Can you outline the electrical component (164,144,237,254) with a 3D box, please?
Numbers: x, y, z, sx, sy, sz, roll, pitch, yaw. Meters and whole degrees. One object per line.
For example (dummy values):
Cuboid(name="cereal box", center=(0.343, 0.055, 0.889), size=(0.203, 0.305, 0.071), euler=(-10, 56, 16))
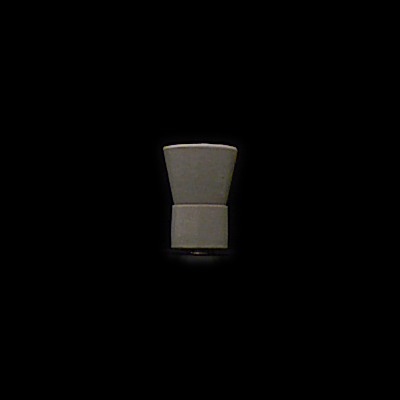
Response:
Cuboid(name="electrical component", center=(0.000, 0.000, 0.651), size=(0.044, 0.065, 0.044), euler=(0, 0, 0))
